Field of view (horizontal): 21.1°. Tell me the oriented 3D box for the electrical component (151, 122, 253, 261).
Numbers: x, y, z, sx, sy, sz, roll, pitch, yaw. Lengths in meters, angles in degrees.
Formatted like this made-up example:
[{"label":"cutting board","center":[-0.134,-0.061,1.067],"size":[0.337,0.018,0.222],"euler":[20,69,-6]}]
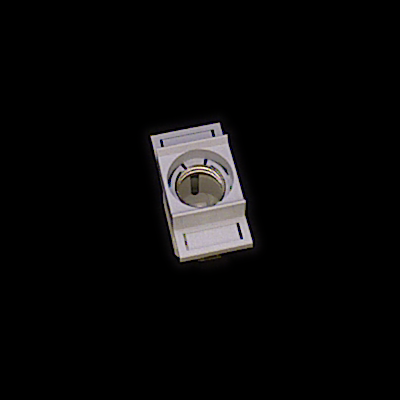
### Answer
[{"label":"electrical component","center":[0.000,0.000,0.623],"size":[0.042,0.081,0.063],"euler":[-11,-27,-7]}]
